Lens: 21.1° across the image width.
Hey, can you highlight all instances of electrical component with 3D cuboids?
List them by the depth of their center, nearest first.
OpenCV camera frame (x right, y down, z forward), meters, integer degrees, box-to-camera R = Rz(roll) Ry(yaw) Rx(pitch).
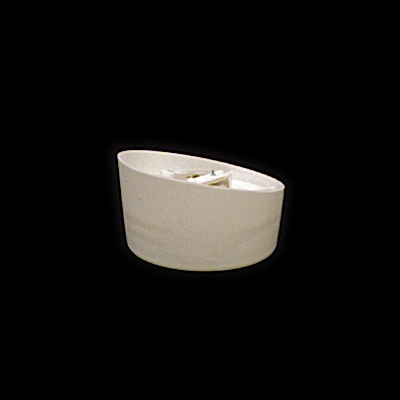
[{"bbox_3d":[0.000,0.000,0.636,0.099,0.065,0.097,1,21,0],"label":"electrical component"}]
